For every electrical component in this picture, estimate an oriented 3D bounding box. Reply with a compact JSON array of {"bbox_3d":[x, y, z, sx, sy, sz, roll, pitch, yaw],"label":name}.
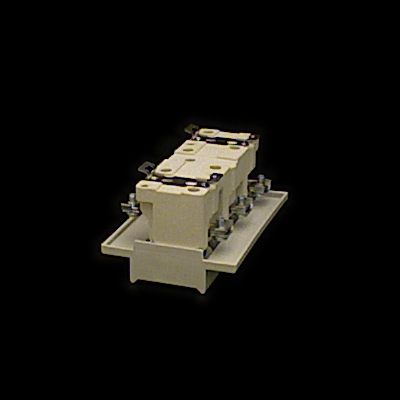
[{"bbox_3d":[0.000,0.000,0.646,0.078,0.064,0.120,8,23,16],"label":"electrical component"}]
